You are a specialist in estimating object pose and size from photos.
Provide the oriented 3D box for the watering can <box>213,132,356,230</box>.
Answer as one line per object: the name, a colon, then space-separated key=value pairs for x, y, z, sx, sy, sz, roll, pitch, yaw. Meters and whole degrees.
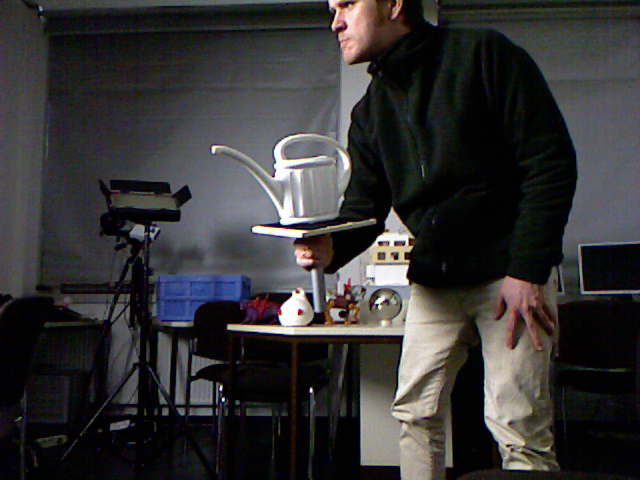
watering can: x=-0.065 y=-0.122 z=1.135 sx=0.349 sy=0.223 sz=0.104 roll=-9 pitch=11 yaw=-31
